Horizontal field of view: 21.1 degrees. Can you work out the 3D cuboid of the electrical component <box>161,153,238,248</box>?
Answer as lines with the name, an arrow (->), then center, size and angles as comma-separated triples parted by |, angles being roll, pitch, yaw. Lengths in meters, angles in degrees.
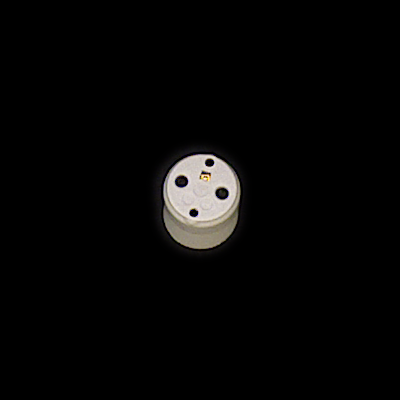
electrical component -> 0.000, 0.000, 0.629 | 0.045, 0.045, 0.055 | 0, -16, 0
